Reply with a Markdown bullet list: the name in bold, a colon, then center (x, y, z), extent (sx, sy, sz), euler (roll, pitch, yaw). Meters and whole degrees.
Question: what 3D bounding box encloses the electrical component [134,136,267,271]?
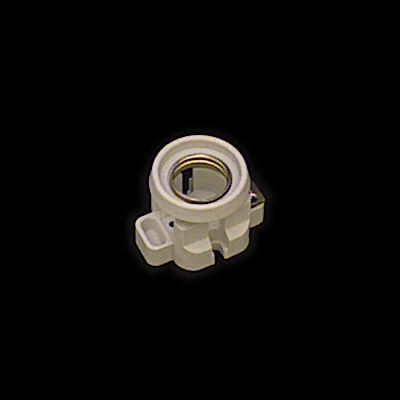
- **electrical component**: center (0.000, 0.000, 0.630), extent (0.078, 0.057, 0.057), euler (-22, -34, -17)
